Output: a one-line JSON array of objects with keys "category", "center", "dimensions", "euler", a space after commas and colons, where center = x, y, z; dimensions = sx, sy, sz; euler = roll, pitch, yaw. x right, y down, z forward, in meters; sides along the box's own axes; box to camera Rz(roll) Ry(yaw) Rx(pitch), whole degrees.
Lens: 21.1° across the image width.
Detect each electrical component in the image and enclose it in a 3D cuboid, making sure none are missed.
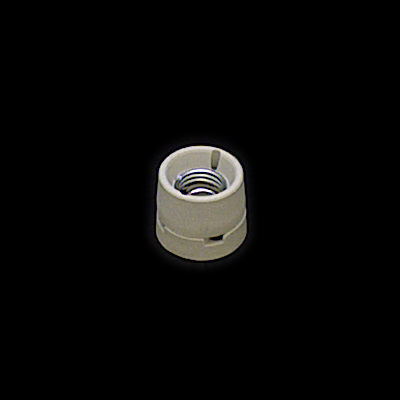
[{"category": "electrical component", "center": [0.000, 0.000, 0.635], "dimensions": [0.055, 0.047, 0.055], "euler": [0, 43, 0]}]
